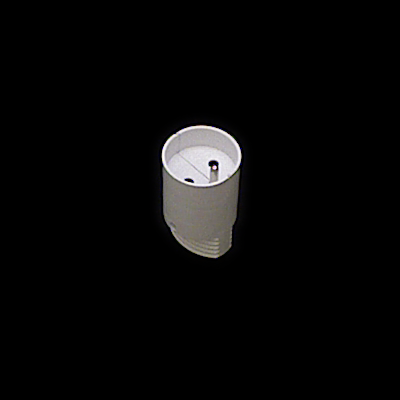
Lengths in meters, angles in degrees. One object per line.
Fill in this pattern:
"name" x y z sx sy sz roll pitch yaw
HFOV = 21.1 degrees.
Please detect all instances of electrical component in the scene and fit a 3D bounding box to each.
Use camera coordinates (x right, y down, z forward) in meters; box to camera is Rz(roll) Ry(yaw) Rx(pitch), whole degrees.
"electrical component" 0.000 0.000 0.619 0.043 0.043 0.081 0 -37 -1
